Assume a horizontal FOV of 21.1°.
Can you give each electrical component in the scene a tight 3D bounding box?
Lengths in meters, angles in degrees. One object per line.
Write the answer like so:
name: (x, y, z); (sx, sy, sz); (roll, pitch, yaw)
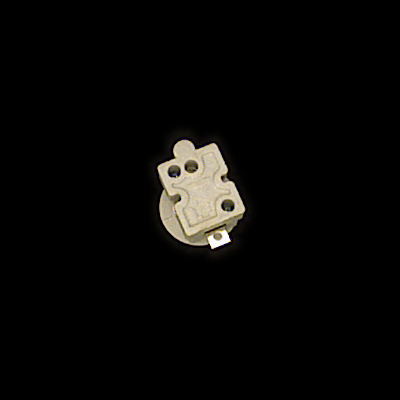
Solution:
electrical component: (0.000, 0.000, 0.637); (0.048, 0.066, 0.055); (-22, -14, -7)
